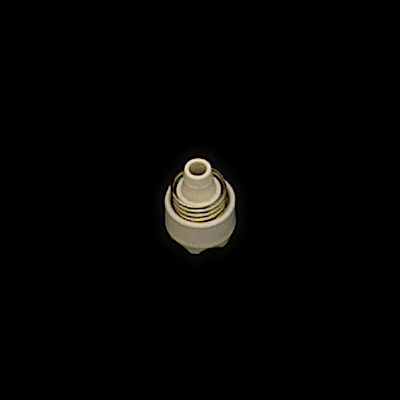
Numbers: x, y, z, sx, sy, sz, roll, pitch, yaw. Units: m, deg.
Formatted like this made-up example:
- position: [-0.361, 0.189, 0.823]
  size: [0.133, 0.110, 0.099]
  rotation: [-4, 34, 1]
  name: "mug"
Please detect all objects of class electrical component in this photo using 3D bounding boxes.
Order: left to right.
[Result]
- position: [0.000, 0.000, 0.635]
  size: [0.043, 0.043, 0.062]
  rotation: [0, -37, 1]
  name: "electrical component"
